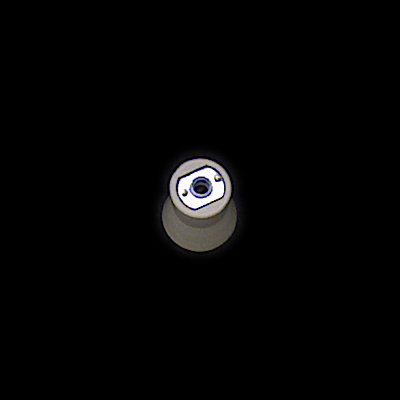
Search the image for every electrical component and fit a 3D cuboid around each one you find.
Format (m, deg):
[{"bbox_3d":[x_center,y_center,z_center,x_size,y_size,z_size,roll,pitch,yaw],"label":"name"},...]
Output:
[{"bbox_3d":[0.000,0.000,0.624,0.044,0.044,0.065,0,-16,-1],"label":"electrical component"}]
